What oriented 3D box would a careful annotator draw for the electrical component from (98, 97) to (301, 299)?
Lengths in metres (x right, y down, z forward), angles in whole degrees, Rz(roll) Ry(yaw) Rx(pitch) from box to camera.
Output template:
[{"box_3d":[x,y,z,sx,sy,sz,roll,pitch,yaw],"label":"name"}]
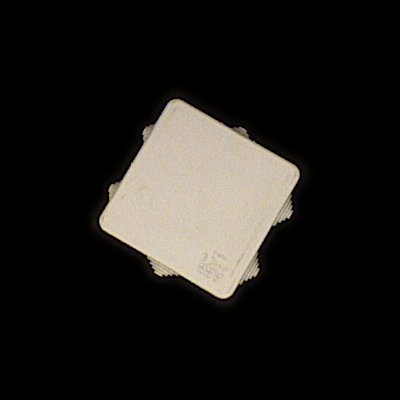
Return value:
[{"box_3d":[0.000,0.000,0.642,0.100,0.100,0.048,30,-5,3],"label":"electrical component"}]
